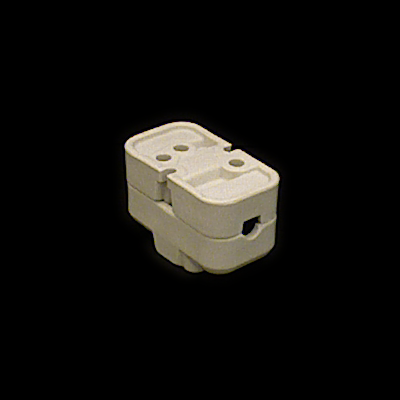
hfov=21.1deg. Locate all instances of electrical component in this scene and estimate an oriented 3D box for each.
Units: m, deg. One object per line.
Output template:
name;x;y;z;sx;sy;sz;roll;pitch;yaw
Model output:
electrical component;0.000;0.000;0.639;0.054;0.060;0.093;-23;40;-33
